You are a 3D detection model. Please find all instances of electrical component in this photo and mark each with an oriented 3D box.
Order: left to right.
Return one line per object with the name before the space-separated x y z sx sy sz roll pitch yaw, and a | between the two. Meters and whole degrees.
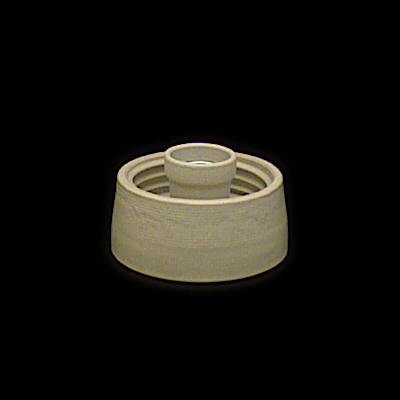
electrical component | 0.000 0.000 0.644 0.108 0.061 0.106 1 22 0
